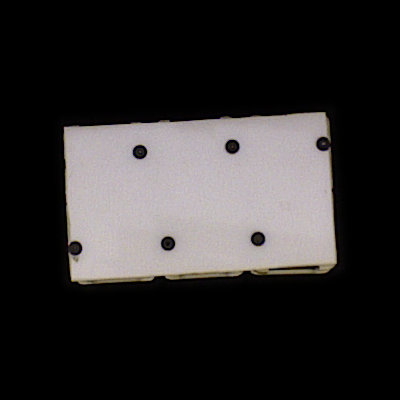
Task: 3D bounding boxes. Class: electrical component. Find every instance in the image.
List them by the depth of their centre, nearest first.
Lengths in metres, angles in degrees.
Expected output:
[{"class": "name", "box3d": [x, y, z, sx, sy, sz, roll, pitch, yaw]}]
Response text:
[{"class": "electrical component", "box3d": [0.000, 0.000, 0.631, 0.150, 0.089, 0.061, -3, -6, -1]}]
